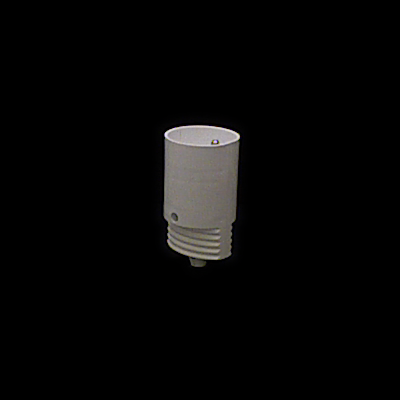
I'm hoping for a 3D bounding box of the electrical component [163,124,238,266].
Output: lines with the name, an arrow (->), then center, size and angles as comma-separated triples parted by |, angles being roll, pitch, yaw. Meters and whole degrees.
electrical component -> 0.000, 0.000, 0.635 | 0.043, 0.082, 0.042 | 1, 22, 0
